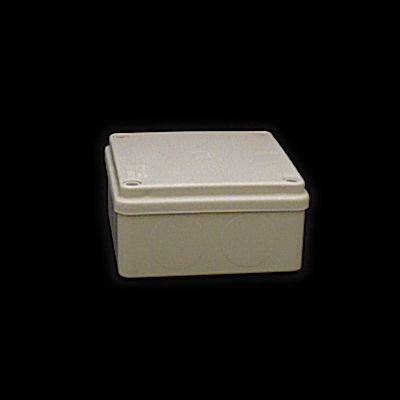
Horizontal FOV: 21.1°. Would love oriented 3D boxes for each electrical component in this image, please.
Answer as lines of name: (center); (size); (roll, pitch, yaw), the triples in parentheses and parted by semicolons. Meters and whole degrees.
electrical component: (0.000, 0.000, 0.641); (0.109, 0.057, 0.107); (-1, 21, -8)
